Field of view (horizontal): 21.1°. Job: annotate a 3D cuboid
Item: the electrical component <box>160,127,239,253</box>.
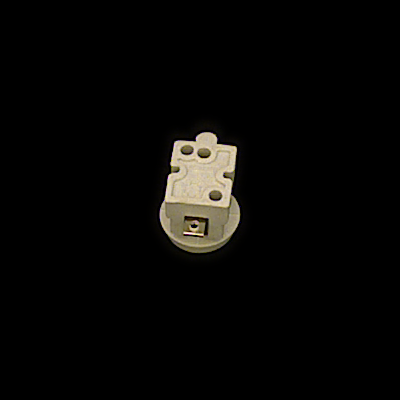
[{"bbox_3d":[0.000,0.000,0.639,0.048,0.066,0.055,6,-36,3],"label":"electrical component"}]
